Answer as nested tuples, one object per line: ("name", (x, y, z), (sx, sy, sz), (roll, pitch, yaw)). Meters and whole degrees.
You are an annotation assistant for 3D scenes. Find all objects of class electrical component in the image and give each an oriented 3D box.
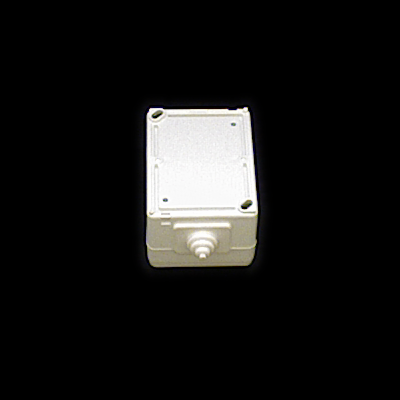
("electrical component", (0.000, 0.000, 0.623), (0.062, 0.096, 0.061), (-1, -38, -2))
